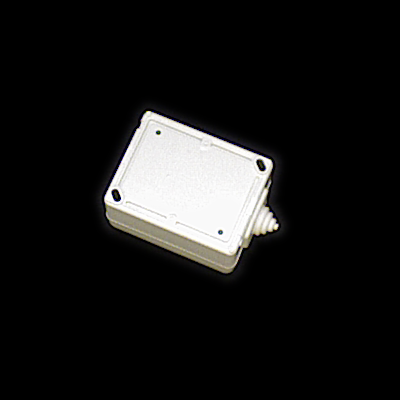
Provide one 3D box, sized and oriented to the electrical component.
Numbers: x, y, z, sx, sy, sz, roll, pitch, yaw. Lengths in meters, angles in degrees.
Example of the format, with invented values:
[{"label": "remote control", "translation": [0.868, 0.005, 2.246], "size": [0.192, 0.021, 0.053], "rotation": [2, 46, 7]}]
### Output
[{"label": "electrical component", "translation": [0.000, 0.000, 0.625], "size": [0.096, 0.062, 0.060], "rotation": [22, -16, 7]}]
